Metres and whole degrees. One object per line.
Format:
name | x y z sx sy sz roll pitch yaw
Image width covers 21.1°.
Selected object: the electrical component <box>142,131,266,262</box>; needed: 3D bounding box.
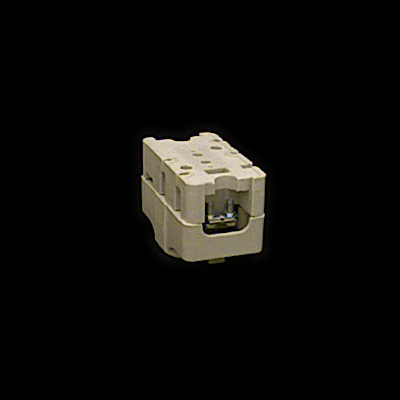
electrical component | 0.000 0.000 0.647 0.050 0.056 0.088 -6 23 -19
